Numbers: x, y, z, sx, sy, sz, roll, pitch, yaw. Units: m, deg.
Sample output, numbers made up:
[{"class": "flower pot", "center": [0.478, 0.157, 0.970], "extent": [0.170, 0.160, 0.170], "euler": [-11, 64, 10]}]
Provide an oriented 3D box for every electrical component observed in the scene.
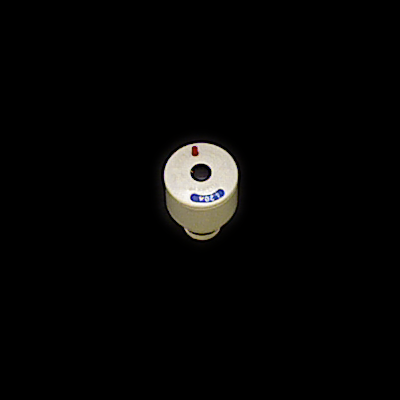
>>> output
[{"class": "electrical component", "center": [0.000, 0.000, 0.619], "extent": [0.040, 0.040, 0.078], "euler": [0, -28, 1]}]
